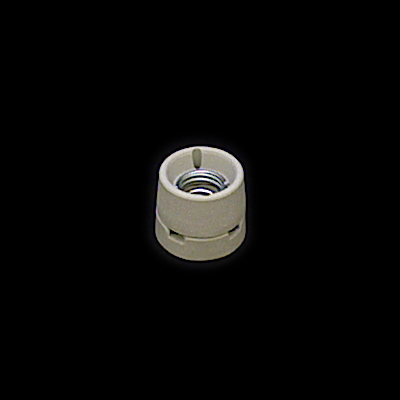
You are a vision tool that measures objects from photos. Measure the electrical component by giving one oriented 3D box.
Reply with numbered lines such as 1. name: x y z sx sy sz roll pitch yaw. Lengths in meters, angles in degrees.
1. electrical component: 0.000 0.000 0.637 0.055 0.047 0.055 1 41 0
